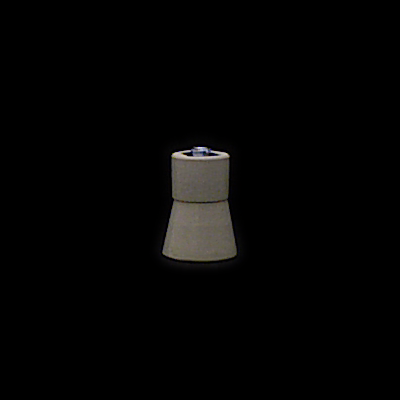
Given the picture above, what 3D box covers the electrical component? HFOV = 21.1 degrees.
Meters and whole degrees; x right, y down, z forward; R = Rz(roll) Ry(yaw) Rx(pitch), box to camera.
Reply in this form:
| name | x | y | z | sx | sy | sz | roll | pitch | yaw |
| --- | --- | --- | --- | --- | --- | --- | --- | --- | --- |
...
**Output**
| name | x | y | z | sx | sy | sz | roll | pitch | yaw |
| --- | --- | --- | --- | --- | --- | --- | --- | --- | --- |
| electrical component | 0.000 | 0.000 | 0.644 | 0.044 | 0.066 | 0.044 | 0 | 12 | 0 |
